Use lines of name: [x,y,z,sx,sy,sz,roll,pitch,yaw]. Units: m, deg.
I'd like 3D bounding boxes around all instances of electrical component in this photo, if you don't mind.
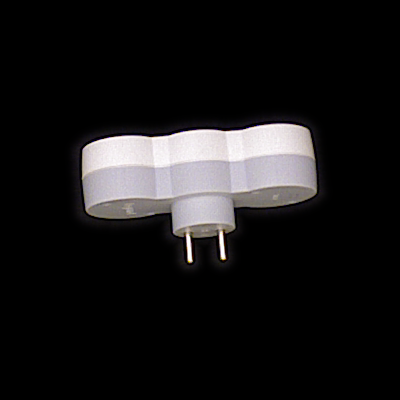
electrical component: [0.000,0.000,0.631,0.138,0.074,0.052,-5,-15,-2]
